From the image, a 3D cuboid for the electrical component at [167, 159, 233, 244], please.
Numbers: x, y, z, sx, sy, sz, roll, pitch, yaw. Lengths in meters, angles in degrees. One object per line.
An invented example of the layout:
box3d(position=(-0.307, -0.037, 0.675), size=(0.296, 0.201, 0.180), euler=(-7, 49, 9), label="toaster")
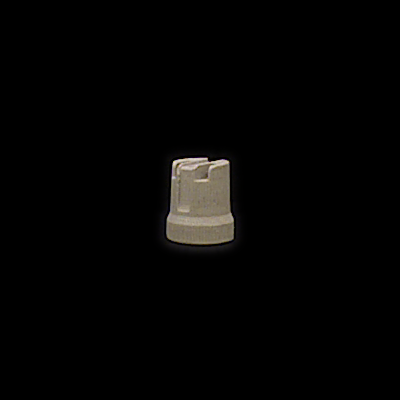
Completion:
box3d(position=(0.000, 0.000, 0.645), size=(0.040, 0.046, 0.040), euler=(1, 11, 0), label="electrical component")
